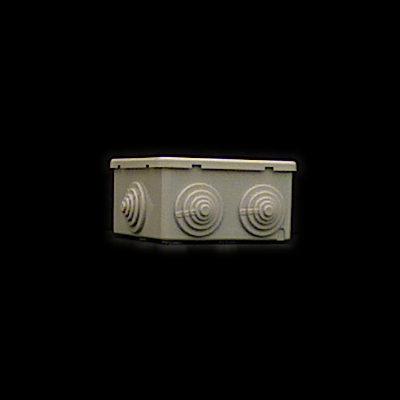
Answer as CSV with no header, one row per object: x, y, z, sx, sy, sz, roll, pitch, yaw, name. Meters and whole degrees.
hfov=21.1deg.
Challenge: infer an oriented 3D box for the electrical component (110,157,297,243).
0.000,0.000,0.655,0.100,0.048,0.099,1,1,-25,electrical component
